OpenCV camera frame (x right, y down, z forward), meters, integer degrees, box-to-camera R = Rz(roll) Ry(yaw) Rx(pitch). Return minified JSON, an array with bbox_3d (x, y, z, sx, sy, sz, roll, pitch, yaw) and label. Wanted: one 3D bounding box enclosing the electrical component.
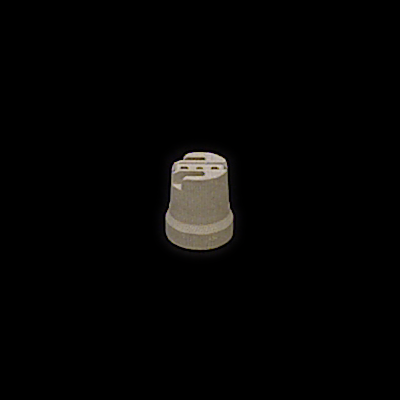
[{"bbox_3d":[0.000,0.000,0.639,0.040,0.046,0.040,1,31,0],"label":"electrical component"}]
